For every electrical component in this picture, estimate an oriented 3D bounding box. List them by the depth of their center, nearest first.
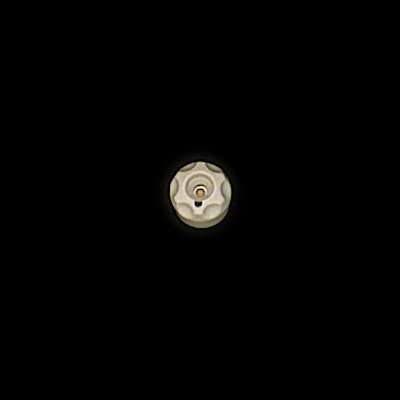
[{"bbox_3d":[0.000,0.000,0.633,0.035,0.035,0.061,0,-16,1],"label":"electrical component"}]
